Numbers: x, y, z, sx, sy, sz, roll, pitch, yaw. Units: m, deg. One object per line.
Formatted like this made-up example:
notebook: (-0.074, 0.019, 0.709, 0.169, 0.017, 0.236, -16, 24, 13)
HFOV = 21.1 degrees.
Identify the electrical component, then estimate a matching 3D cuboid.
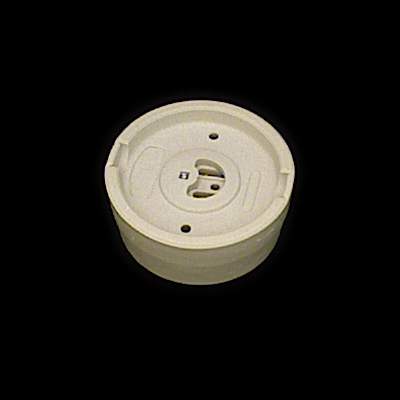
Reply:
electrical component: (0.000, 0.000, 0.634, 0.108, 0.107, 0.060, 0, -37, -1)
